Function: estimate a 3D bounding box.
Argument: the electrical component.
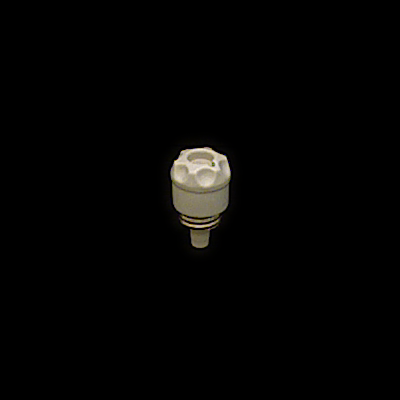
[{"bbox_3d":[0.000,0.000,0.639,0.035,0.062,0.035,1,33,0],"label":"electrical component"}]
